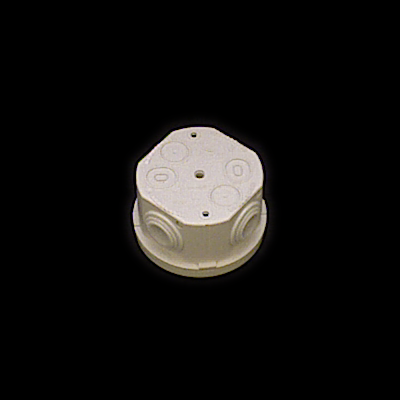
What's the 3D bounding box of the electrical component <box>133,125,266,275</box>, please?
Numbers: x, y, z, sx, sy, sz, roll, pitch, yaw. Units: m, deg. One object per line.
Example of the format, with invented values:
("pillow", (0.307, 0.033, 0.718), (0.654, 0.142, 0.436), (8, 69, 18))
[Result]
("electrical component", (0.000, 0.000, 0.633), (0.080, 0.080, 0.051), (0, -38, 0))
